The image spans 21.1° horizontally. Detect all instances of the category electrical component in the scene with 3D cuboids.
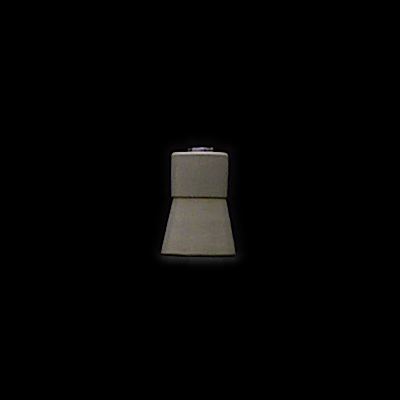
[{"bbox_3d":[0.000,0.000,0.649,0.044,0.065,0.044,1,2,0],"label":"electrical component"}]
